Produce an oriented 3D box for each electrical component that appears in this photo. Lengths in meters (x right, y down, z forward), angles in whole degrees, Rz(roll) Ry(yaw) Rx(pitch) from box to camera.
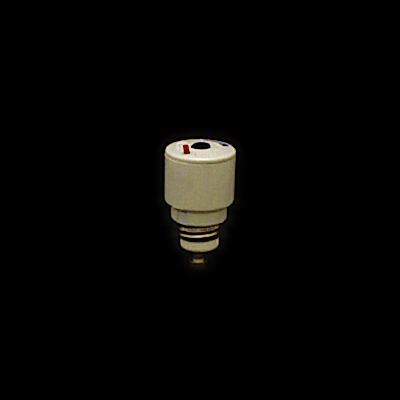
[{"bbox_3d":[0.000,0.000,0.634,0.040,0.079,0.039,1,22,0],"label":"electrical component"}]
